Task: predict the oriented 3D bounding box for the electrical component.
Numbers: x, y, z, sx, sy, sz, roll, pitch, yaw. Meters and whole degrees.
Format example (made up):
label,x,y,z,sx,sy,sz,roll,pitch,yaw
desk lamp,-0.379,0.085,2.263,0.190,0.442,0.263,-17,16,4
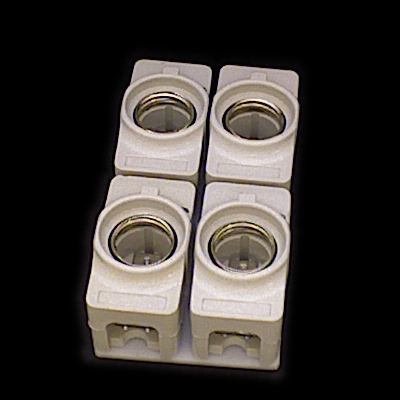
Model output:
label,x,y,z,sx,sy,sz,roll,pitch,yaw
electrical component,0.000,0.000,0.627,0.105,0.185,0.060,5,-38,3
